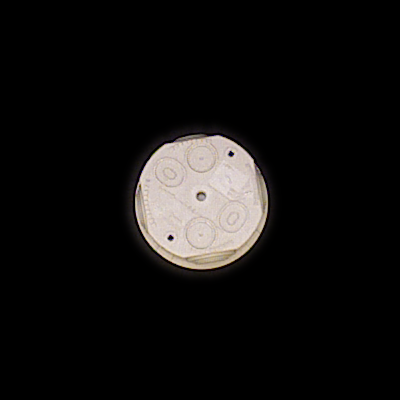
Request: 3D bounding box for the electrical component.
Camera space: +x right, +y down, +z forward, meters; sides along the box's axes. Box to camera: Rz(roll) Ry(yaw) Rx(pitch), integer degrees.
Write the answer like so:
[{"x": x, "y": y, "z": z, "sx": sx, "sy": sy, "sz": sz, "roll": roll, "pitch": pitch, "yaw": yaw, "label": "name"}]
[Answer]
[{"x": 0.000, "y": 0.000, "z": 0.633, "sx": 0.080, "sy": 0.080, "sz": 0.050, "roll": 0, "pitch": -7, "yaw": 0, "label": "electrical component"}]
